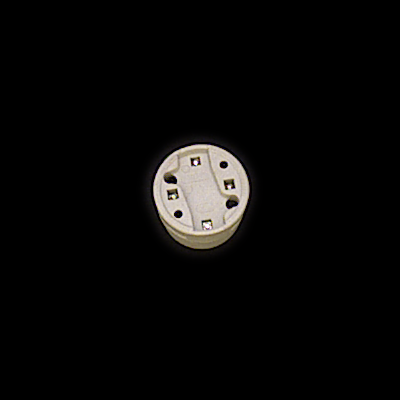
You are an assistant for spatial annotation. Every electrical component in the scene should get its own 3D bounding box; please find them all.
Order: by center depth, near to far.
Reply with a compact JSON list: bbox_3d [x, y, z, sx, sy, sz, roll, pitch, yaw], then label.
[{"bbox_3d":[0.000,0.000,0.635,0.055,0.056,0.047,0,-17,0],"label":"electrical component"}]
